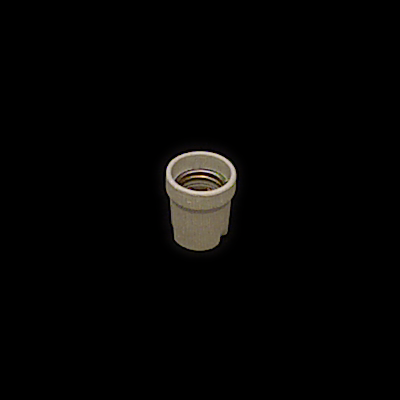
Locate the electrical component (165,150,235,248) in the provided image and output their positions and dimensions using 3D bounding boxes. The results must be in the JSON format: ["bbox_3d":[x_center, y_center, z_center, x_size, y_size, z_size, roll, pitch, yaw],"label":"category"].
[{"bbox_3d":[0.000,0.000,0.633,0.040,0.047,0.039,1,42,0],"label":"electrical component"}]
